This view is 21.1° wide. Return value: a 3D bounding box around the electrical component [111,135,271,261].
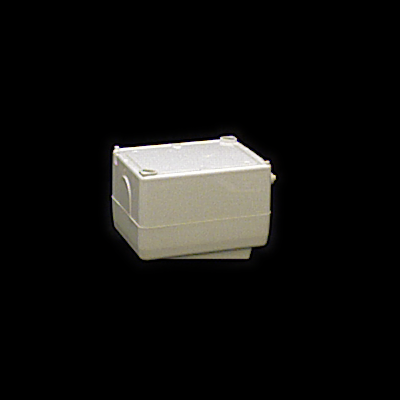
[{"bbox_3d":[0.000,0.000,0.643,0.096,0.062,0.061,-7,21,-19],"label":"electrical component"}]
